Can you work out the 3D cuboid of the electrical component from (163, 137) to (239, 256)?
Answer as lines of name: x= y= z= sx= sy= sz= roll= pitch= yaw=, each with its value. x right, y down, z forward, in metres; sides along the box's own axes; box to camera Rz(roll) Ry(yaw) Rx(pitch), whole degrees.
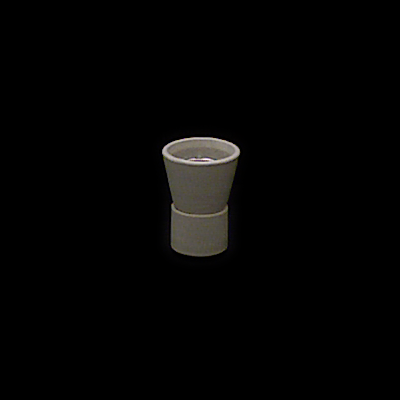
electrical component: x=0.000 y=0.000 z=0.636 sx=0.044 sy=0.066 sz=0.044 roll=1 pitch=22 yaw=0
